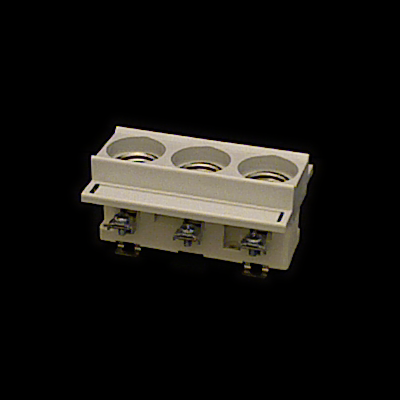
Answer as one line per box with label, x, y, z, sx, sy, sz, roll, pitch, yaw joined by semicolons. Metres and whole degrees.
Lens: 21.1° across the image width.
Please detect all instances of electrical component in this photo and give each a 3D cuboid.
electrical component;0.000;0.000;0.648;0.121;0.064;0.078;9;32;13
